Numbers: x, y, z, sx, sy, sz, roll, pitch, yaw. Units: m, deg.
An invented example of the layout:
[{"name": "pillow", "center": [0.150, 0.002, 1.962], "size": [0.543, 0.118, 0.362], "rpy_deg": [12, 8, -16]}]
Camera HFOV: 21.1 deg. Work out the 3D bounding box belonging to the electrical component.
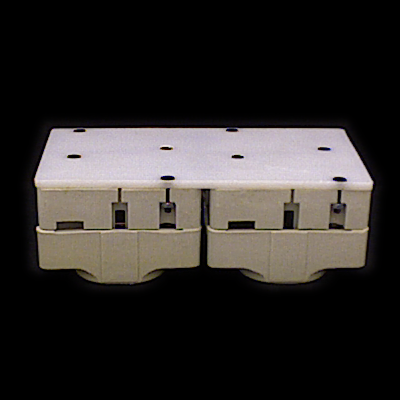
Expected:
[{"name": "electrical component", "center": [0.000, 0.000, 0.638], "size": [0.186, 0.061, 0.104], "rpy_deg": [0, 20, -3]}]
